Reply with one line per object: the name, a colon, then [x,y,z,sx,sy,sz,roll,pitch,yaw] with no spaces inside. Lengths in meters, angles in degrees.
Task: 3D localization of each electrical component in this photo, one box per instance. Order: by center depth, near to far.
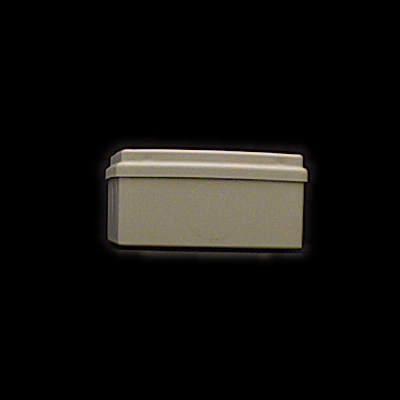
electrical component: [0.000,0.000,0.648,0.109,0.056,0.108,1,1,-9]
